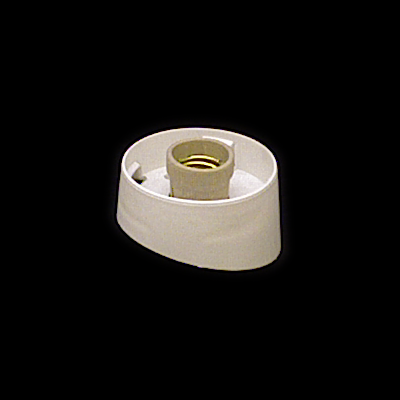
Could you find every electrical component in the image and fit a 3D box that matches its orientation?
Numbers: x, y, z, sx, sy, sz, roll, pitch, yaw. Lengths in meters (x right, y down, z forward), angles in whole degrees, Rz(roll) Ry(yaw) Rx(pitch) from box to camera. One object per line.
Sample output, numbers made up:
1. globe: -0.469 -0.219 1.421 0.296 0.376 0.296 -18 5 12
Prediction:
1. electrical component: 0.000 0.000 0.633 0.099 0.065 0.097 1 31 0
